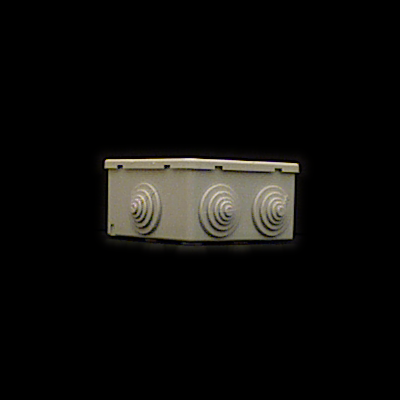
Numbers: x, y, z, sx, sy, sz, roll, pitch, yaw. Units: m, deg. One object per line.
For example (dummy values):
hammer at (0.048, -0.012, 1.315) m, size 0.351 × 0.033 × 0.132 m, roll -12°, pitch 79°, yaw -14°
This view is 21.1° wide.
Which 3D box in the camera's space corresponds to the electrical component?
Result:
electrical component at (0.000, 0.000, 0.658) m, size 0.101 × 0.048 × 0.098 m, roll 0°, pitch 1°, yaw -40°
